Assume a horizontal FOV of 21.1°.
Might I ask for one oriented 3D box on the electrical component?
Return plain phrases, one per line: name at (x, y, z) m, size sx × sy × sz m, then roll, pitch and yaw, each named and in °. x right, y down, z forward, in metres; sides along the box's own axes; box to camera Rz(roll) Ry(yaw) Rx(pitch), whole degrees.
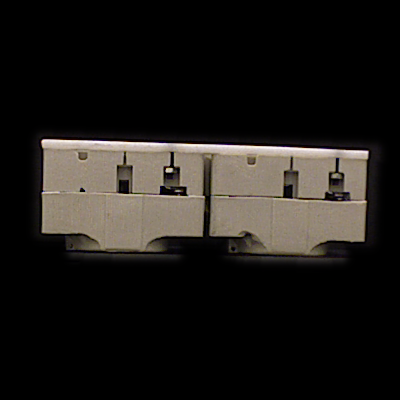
electrical component at (0.000, 0.000, 0.649) m, size 0.186 × 0.060 × 0.105 m, roll 2°, pitch 0°, yaw -5°
